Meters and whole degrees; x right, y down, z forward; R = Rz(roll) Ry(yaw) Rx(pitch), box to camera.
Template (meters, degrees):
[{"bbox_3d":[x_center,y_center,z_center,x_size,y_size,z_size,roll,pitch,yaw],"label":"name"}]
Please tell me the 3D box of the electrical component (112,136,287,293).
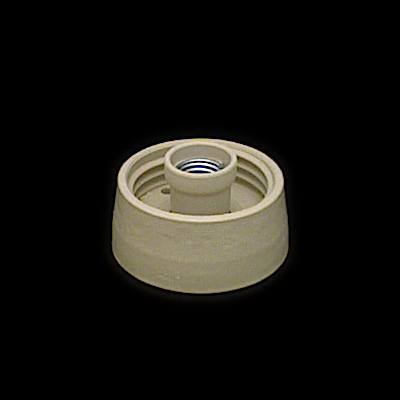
[{"bbox_3d":[0.000,0.000,0.643,0.108,0.061,0.106,1,32,0],"label":"electrical component"}]
